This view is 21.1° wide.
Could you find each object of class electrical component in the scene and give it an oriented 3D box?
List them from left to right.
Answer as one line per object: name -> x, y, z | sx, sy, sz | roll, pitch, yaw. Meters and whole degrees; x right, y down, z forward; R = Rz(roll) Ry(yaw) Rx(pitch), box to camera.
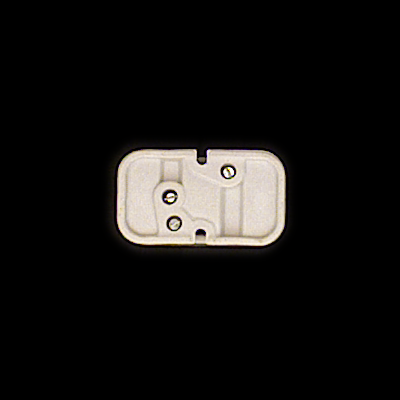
electrical component -> 0.000, 0.000, 0.637 | 0.095, 0.054, 0.059 | 1, -6, 0
